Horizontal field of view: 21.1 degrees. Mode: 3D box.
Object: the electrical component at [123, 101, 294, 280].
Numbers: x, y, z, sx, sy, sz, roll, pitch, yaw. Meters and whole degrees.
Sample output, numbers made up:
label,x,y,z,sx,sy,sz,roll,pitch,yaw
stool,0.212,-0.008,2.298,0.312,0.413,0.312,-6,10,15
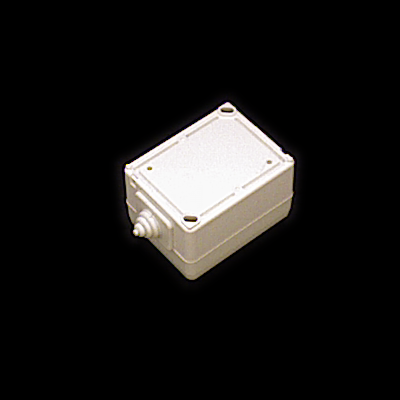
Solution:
label,x,y,z,sx,sy,sz,roll,pitch,yaw
electrical component,0.000,0.000,0.630,0.096,0.061,0.061,-34,59,-23
